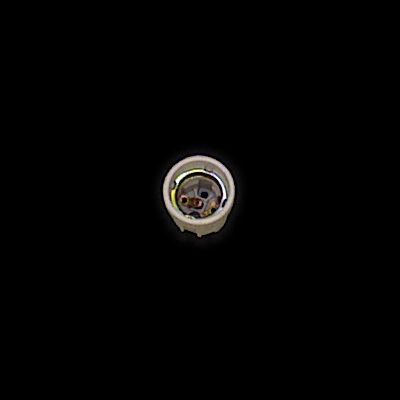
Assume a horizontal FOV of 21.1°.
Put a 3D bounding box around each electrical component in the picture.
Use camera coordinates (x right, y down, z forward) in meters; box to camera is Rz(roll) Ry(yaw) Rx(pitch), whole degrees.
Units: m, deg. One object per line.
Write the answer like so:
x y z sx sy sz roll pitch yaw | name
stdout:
0.000 0.000 0.626 0.040 0.040 0.046 0 -17 0 | electrical component
